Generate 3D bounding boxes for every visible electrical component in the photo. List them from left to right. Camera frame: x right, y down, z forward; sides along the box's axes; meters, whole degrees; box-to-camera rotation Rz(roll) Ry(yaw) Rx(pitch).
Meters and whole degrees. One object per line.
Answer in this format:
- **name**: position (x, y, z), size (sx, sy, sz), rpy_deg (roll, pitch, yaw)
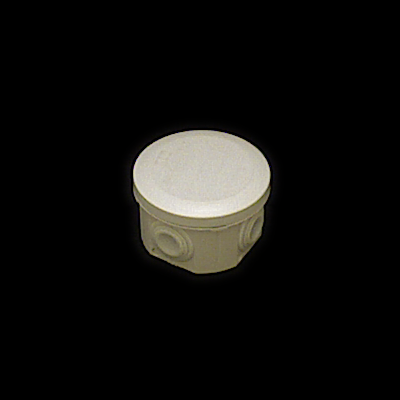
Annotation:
- **electrical component**: position (0.000, 0.000, 0.635), size (0.080, 0.051, 0.079), rpy_deg (1, 42, 0)
